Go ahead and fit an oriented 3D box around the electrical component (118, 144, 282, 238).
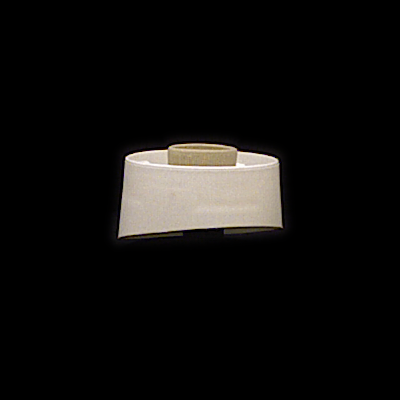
[{"bbox_3d":[0.000,0.000,0.644,0.099,0.064,0.098,1,10,0],"label":"electrical component"}]
